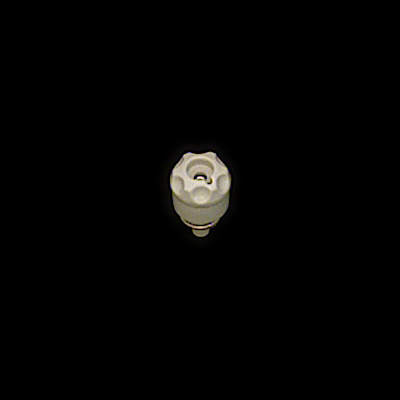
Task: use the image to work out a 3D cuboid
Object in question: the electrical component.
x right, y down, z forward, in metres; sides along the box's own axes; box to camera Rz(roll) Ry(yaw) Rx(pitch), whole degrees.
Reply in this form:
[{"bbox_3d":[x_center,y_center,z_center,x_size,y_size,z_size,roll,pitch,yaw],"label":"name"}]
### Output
[{"bbox_3d":[0.000,0.000,0.633,0.035,0.035,0.061,0,-37,0],"label":"electrical component"}]
